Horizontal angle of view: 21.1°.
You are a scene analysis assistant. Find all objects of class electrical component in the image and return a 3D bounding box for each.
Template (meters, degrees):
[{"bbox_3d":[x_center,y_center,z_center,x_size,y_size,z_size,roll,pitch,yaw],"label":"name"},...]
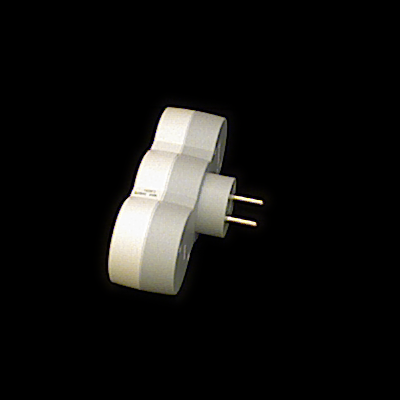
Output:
[{"bbox_3d":[0.000,0.000,0.639,0.073,0.052,0.137,11,43,8],"label":"electrical component"}]
